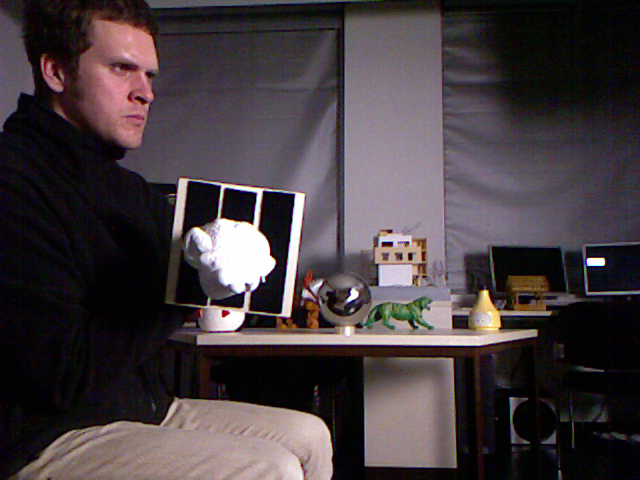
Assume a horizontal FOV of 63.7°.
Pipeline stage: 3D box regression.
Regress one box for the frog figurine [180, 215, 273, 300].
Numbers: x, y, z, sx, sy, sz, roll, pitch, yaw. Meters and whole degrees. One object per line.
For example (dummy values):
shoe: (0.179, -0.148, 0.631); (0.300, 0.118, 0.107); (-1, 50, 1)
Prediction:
frog figurine: (-0.141, 0.023, 0.761); (0.138, 0.123, 0.160); (26, -2, -2)
